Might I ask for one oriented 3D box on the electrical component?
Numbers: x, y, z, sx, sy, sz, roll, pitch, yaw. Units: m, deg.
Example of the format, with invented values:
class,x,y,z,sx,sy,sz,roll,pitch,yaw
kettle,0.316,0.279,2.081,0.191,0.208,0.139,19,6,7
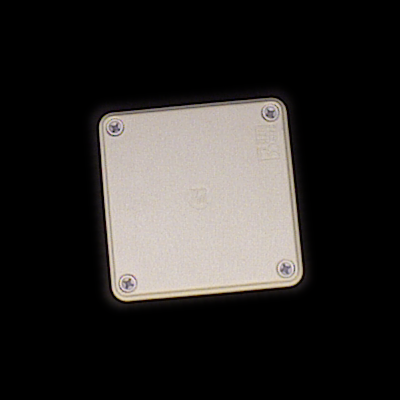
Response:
class,x,y,z,sx,sy,sz,roll,pitch,yaw
electrical component,0.000,0.000,0.630,0.109,0.109,0.056,-5,-7,0
